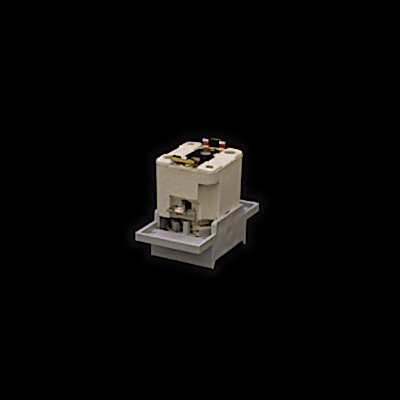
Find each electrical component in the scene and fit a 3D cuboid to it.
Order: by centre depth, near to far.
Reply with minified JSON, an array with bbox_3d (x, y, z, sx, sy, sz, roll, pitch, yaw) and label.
[{"bbox_3d":[0.000,0.000,0.638,0.042,0.064,0.080,12,23,25],"label":"electrical component"}]
